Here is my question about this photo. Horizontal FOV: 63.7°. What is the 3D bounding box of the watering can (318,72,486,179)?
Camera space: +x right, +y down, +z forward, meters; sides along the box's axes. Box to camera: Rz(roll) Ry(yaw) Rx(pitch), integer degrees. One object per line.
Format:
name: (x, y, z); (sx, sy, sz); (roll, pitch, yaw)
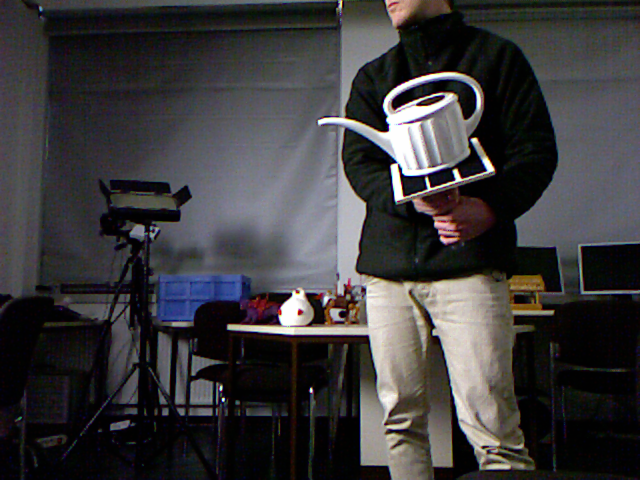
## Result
watering can: (0.190, -0.232, 1.121); (0.347, 0.221, 0.107); (-16, 30, 14)
